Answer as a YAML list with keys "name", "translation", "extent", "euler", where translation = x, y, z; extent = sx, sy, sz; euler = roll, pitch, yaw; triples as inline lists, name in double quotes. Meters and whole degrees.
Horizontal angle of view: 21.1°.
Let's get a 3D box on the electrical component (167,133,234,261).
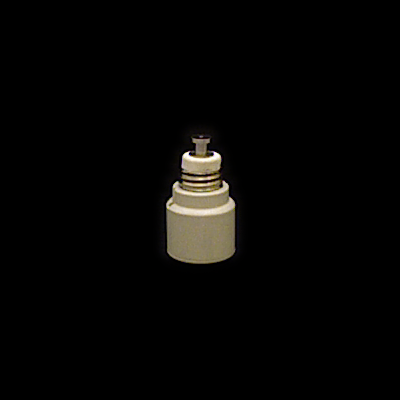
- name: "electrical component"
  translation: [0.000, 0.000, 0.636]
  extent: [0.040, 0.079, 0.039]
  euler: [0, 22, 0]
